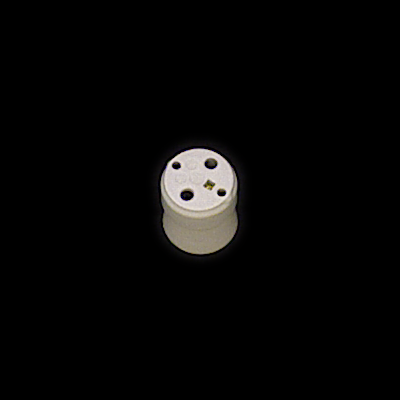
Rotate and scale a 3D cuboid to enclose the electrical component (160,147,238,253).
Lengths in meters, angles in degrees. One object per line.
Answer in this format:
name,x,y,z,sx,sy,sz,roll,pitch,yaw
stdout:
electrical component,0.000,0.000,0.628,0.045,0.045,0.055,0,-27,0
